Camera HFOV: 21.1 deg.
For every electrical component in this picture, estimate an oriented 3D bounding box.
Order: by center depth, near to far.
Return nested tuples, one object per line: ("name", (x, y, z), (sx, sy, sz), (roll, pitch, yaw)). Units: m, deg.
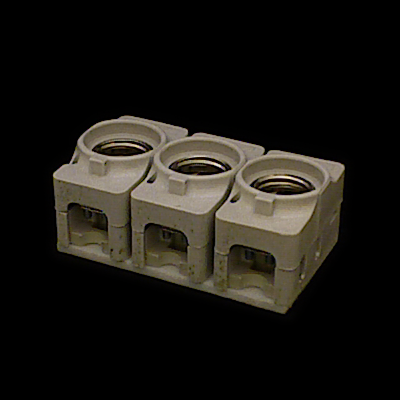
("electrical component", (0.000, 0.000, 0.639), (0.149, 0.063, 0.088), (14, 34, 21))
